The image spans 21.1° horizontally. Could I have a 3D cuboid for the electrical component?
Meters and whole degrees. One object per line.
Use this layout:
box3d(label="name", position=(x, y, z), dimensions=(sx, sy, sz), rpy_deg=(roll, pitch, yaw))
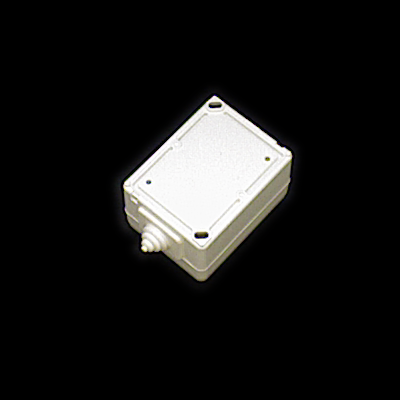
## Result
box3d(label="electrical component", position=(-0.001, 0.000, 0.623), dimensions=(0.062, 0.097, 0.060), rpy_deg=(38, -22, 17))
